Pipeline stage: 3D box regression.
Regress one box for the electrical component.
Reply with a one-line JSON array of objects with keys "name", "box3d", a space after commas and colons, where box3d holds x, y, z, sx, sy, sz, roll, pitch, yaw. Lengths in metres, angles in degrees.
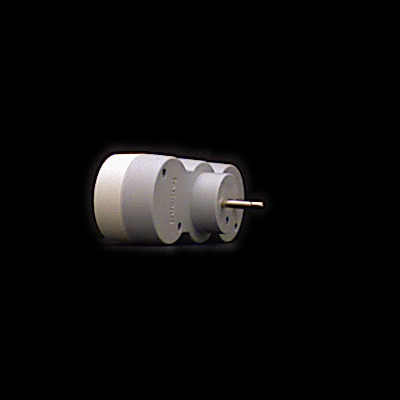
[{"name": "electrical component", "box3d": [0.000, 0.000, 0.653, 0.073, 0.052, 0.138, 4, 0, 24]}]
